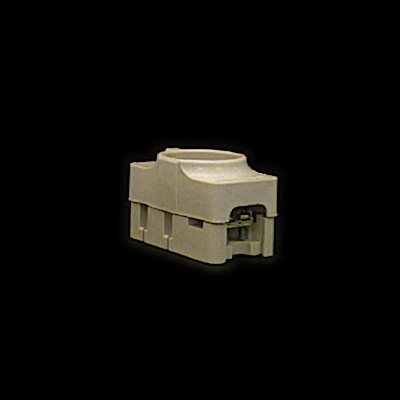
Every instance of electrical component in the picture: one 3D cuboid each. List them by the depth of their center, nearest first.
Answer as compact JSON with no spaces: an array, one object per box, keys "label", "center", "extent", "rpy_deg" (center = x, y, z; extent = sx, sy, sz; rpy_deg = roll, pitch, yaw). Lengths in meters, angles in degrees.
[{"label":"electrical component","center":[0.000,0.000,0.652],"extent":[0.050,0.056,0.088],"rpy_deg":[-8,15,-38]}]
